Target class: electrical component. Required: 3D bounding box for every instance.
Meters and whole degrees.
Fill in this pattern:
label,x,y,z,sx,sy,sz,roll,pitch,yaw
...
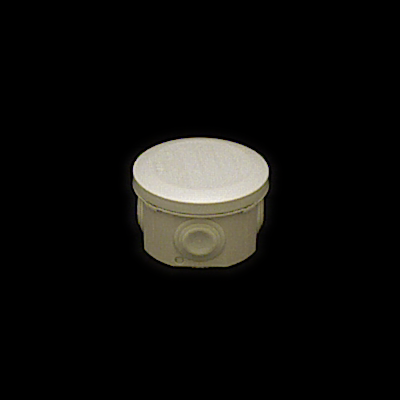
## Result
label,x,y,z,sx,sy,sz,roll,pitch,yaw
electrical component,0.000,0.000,0.638,0.080,0.051,0.079,1,31,0
